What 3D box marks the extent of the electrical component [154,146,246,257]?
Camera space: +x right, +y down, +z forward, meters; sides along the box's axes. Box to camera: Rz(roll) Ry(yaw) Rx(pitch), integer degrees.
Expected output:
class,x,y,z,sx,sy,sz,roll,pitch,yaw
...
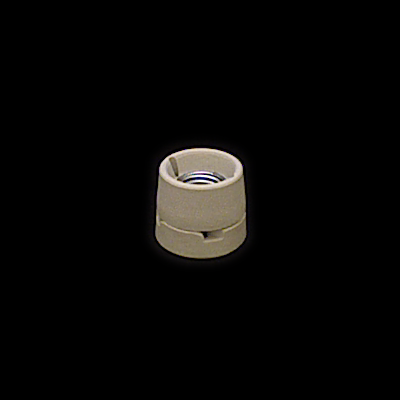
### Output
class,x,y,z,sx,sy,sz,roll,pitch,yaw
electrical component,0.000,0.000,0.639,0.055,0.047,0.055,0,31,0
